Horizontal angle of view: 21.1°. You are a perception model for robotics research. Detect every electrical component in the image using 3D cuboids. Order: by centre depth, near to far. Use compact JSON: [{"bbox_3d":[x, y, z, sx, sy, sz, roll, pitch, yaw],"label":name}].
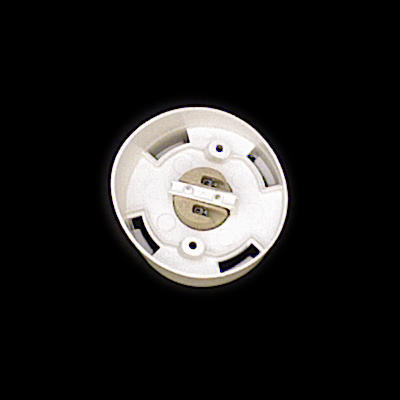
[{"bbox_3d":[0.000,0.000,0.623,0.099,0.099,0.064,0,-17,1],"label":"electrical component"}]
